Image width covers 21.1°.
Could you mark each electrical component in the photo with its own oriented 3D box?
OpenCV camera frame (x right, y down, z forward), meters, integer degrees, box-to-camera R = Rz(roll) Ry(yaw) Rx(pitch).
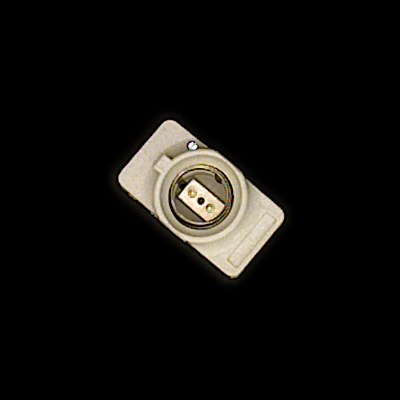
[{"bbox_3d":[0.000,0.000,0.637,0.089,0.050,0.055,40,-4,4],"label":"electrical component"}]
